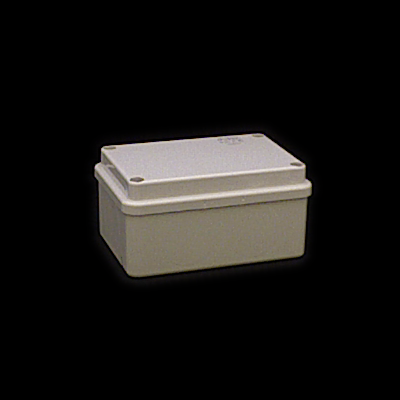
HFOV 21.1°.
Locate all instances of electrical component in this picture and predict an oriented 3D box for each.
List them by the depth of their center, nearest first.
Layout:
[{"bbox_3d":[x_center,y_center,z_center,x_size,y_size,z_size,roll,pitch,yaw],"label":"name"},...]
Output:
[{"bbox_3d":[0.000,0.000,0.641,0.113,0.058,0.077,-6,22,-18],"label":"electrical component"}]
